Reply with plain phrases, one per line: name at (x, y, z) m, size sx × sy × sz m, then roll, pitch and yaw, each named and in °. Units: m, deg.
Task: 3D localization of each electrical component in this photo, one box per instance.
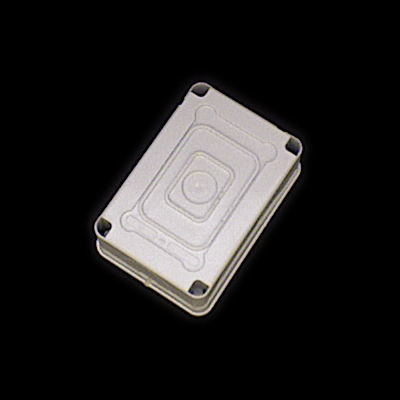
electrical component at (0.000, 0.000, 0.627) m, size 0.078 × 0.113 × 0.057 m, roll 32°, pitch -14°, yaw 9°
